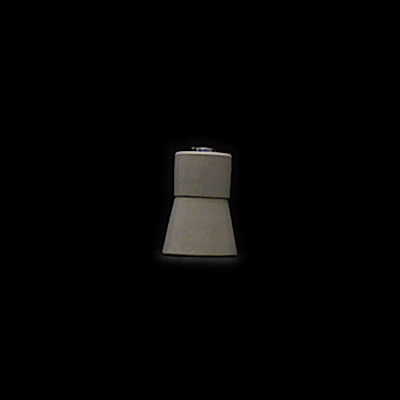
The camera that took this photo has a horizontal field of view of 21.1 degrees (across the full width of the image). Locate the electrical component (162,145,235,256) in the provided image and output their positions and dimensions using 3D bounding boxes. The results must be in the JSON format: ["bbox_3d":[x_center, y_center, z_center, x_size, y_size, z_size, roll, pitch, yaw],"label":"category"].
[{"bbox_3d":[0.000,0.000,0.648,0.044,0.065,0.044,2,1,0],"label":"electrical component"}]
